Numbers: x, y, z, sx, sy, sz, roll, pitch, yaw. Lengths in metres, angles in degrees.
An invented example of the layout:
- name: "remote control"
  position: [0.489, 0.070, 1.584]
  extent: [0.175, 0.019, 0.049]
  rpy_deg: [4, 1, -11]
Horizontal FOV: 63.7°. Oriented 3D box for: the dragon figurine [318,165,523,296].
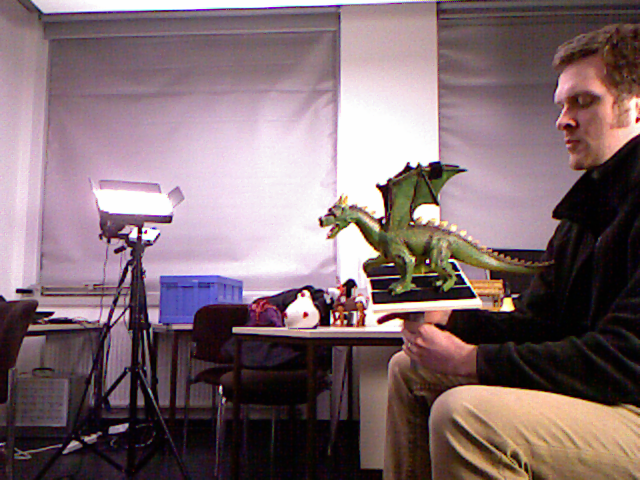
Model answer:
- name: "dragon figurine"
  position: [0.201, -0.028, 1.004]
  extent: [0.411, 0.238, 0.125]
  rpy_deg: [-5, 27, -3]
